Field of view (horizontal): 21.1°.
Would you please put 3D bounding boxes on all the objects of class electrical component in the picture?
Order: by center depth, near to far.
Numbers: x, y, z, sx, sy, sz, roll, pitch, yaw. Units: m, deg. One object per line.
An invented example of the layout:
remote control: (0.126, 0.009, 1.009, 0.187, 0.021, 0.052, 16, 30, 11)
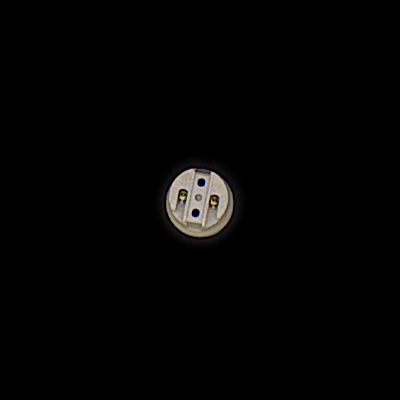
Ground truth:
electrical component: (0.000, 0.000, 0.634, 0.040, 0.040, 0.046, 0, -6, 0)
